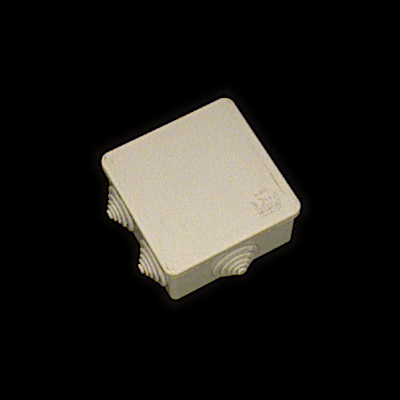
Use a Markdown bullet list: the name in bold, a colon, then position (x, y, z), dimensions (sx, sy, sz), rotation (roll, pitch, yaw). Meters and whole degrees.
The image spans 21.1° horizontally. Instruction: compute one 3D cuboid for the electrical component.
- **electrical component**: position (0.000, 0.000, 0.640), dimensions (0.100, 0.099, 0.048), rotation (-26, -23, -13)
